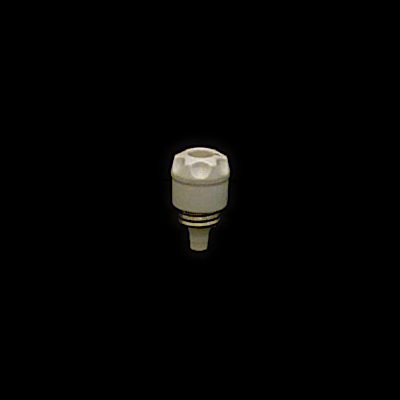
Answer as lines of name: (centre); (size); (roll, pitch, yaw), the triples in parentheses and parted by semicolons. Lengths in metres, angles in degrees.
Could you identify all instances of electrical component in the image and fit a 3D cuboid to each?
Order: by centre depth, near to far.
electrical component: (0.000, 0.000, 0.645); (0.035, 0.062, 0.034); (1, 23, 0)
